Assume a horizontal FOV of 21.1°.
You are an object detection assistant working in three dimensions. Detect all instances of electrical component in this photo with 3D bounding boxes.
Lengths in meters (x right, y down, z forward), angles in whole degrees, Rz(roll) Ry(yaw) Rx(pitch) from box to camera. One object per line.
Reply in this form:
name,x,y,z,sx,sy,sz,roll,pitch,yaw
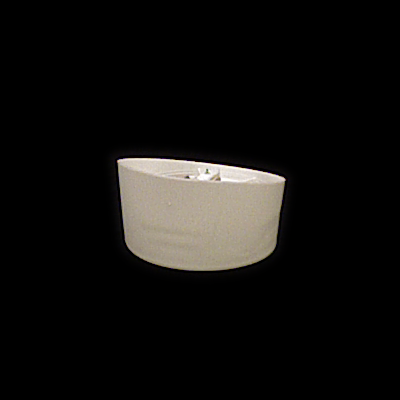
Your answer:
electrical component,0.000,0.000,0.637,0.099,0.065,0.097,1,22,0
